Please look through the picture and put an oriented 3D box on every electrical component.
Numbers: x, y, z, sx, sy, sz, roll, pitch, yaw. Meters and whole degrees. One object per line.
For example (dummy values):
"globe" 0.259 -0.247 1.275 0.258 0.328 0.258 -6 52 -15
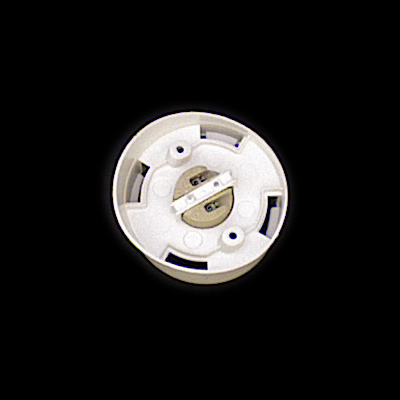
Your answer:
"electrical component" 0.000 0.000 0.623 0.099 0.099 0.064 0 -16 1
